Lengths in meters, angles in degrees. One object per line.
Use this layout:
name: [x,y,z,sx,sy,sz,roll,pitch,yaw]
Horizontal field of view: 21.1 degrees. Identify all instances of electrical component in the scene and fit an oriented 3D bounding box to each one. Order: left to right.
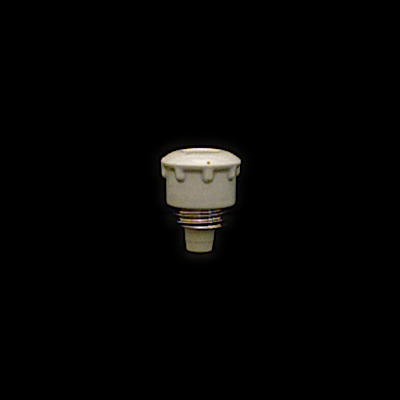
electrical component: [0.000,0.000,0.650,0.048,0.062,0.048,1,11,0]
